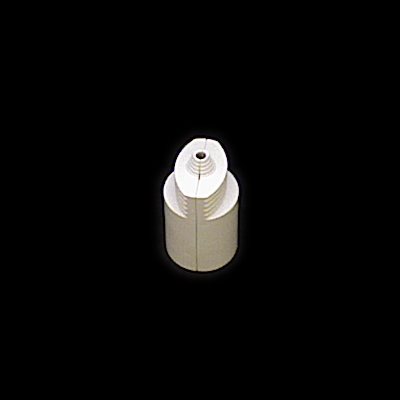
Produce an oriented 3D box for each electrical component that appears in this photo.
[{"bbox_3d":[0.000,0.000,0.620,0.043,0.043,0.081,0,-38,0],"label":"electrical component"}]
